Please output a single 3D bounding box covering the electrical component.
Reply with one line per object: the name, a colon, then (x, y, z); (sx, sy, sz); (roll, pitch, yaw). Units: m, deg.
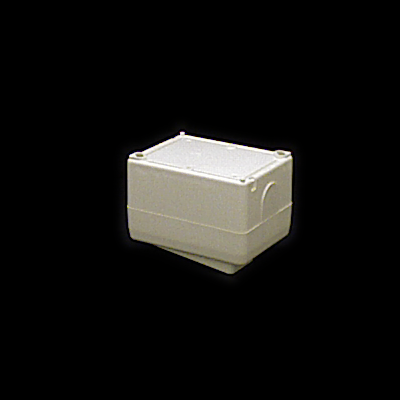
electrical component: (0.000, 0.000, 0.641); (0.095, 0.062, 0.061); (13, 24, 28)
